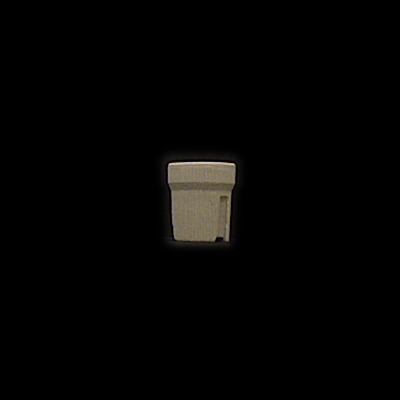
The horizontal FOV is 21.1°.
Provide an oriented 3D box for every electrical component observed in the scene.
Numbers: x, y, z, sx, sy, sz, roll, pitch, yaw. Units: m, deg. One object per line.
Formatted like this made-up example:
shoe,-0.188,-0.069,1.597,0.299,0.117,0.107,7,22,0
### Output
electrical component,0.000,0.000,0.651,0.040,0.046,0.040,1,1,1
